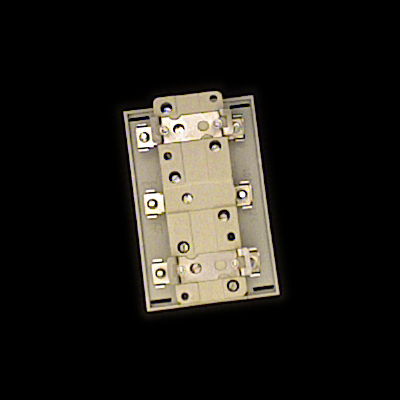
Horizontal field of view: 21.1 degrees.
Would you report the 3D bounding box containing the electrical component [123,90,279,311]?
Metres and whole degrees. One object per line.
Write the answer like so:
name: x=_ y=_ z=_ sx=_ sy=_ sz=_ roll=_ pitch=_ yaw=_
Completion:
electrical component: x=0.000 y=0.000 z=0.635 sx=0.079 sy=0.121 sz=0.063 roll=-7 pitch=-6 yaw=-1
